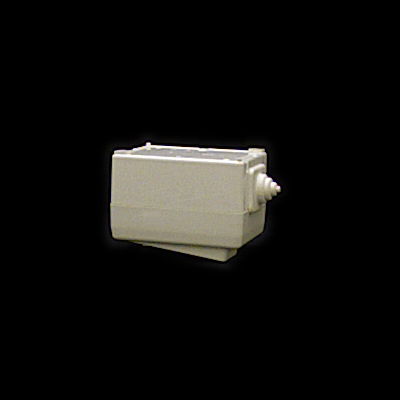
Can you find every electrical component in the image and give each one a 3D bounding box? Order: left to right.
[{"bbox_3d":[0.000,0.000,0.644,0.096,0.061,0.061,4,10,17],"label":"electrical component"}]
